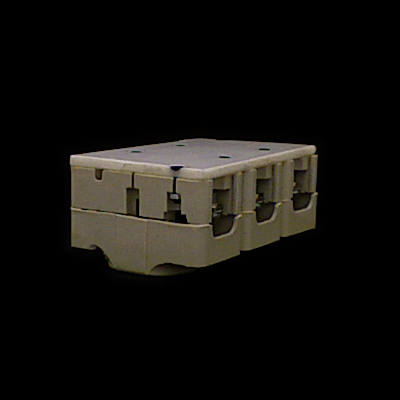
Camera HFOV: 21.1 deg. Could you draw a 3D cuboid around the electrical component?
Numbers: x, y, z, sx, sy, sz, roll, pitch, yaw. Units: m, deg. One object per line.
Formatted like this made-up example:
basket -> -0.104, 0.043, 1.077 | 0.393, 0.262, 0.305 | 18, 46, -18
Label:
electrical component -> 0.000, 0.000, 0.654 | 0.089, 0.062, 0.149 | 7, 11, 30
